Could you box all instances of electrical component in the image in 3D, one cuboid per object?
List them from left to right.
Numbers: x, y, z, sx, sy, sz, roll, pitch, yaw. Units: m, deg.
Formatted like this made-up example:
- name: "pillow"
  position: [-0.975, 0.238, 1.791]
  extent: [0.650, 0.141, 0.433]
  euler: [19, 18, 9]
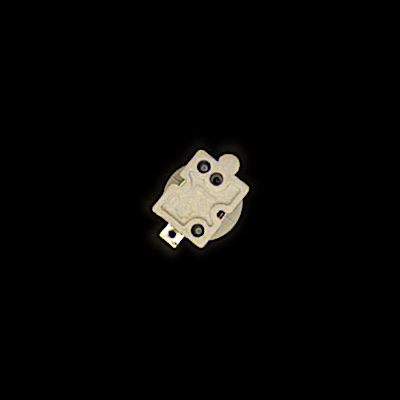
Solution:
- name: "electrical component"
  position: [0.000, 0.000, 0.639]
  extent: [0.048, 0.066, 0.055]
  euler: [39, -3, 3]
